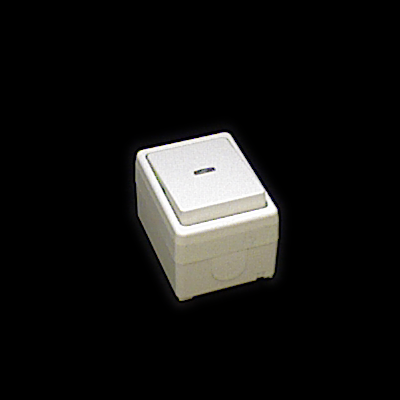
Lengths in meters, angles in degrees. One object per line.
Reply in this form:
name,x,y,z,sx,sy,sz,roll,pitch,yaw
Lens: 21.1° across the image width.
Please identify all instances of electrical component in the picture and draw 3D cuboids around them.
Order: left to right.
electrical component,0.000,0.000,0.632,0.062,0.061,0.095,-13,44,-15
